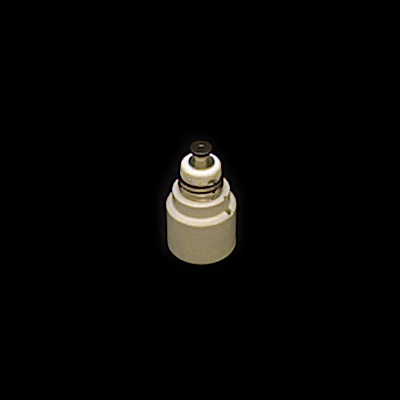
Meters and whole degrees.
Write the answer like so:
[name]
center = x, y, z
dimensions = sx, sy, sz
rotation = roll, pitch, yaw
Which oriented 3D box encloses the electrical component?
[electrical component]
center = 0.000, 0.000, 0.624
dimensions = 0.040, 0.079, 0.039
rotation = 0, 42, 1
